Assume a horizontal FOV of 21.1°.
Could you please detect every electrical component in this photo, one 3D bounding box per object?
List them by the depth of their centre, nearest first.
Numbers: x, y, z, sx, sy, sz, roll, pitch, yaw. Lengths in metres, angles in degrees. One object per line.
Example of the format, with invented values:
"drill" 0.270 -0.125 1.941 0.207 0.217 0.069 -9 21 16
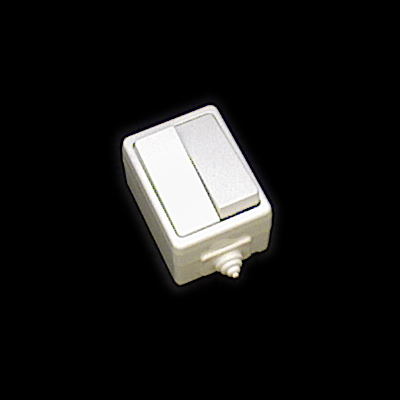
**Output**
"electrical component" 0.000 0.000 0.625 0.062 0.096 0.060 -22 -26 -11
